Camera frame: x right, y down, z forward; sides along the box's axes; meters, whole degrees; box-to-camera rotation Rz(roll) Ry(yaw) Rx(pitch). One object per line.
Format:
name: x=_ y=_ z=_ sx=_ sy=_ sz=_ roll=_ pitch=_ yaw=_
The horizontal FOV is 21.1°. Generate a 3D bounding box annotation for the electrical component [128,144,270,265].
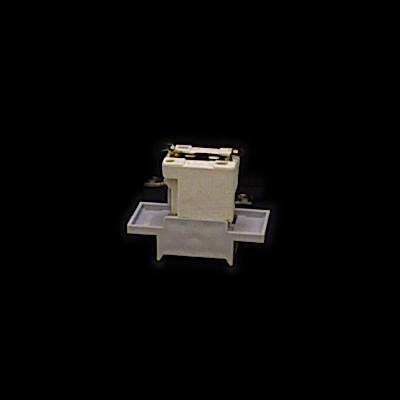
electrical component: x=0.000 y=0.000 z=0.639 sx=0.081 sy=0.064 sz=0.041 roll=3 pitch=21 yaw=6
